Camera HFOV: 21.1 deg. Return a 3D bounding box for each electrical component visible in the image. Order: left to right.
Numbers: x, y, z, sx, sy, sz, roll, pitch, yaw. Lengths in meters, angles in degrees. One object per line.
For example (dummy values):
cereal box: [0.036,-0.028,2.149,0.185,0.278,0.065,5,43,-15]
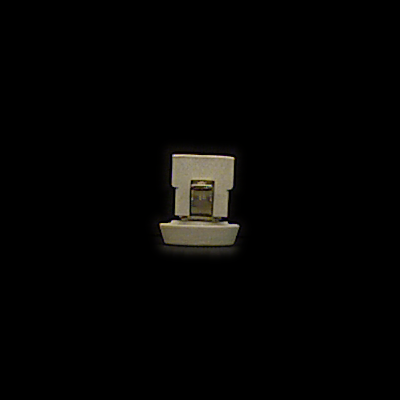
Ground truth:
electrical component: [0.000,0.000,0.657,0.048,0.055,0.066,2,2,-1]
